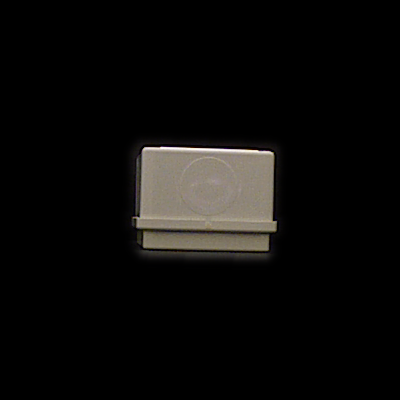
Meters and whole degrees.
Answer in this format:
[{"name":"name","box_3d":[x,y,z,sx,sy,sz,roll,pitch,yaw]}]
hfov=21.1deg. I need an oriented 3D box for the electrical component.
[{"name":"electrical component","box_3d":[0.000,0.000,0.649,0.078,0.057,0.113,1,0,-5]}]
